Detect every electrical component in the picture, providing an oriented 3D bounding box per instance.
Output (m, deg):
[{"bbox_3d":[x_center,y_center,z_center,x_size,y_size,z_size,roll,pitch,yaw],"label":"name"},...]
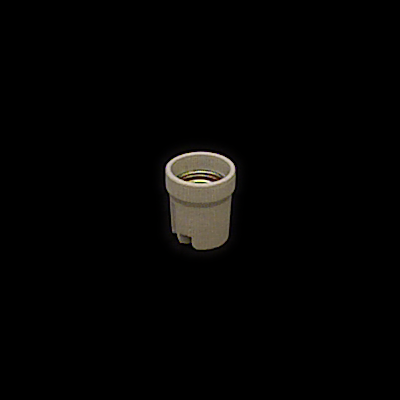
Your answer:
[{"bbox_3d":[0.000,0.000,0.635,0.040,0.047,0.039,1,32,0],"label":"electrical component"}]
